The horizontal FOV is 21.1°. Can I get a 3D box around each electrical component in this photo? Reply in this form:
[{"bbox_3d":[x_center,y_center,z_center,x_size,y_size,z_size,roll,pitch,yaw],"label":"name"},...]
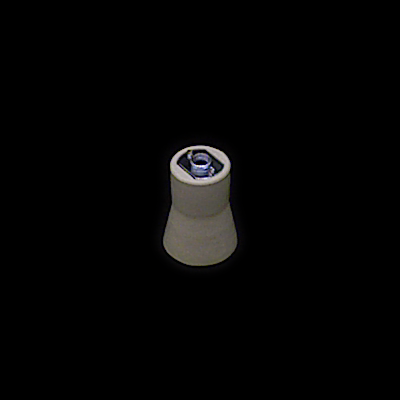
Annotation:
[{"bbox_3d":[0.000,0.000,0.629,0.044,0.066,0.044,0,43,0],"label":"electrical component"}]
